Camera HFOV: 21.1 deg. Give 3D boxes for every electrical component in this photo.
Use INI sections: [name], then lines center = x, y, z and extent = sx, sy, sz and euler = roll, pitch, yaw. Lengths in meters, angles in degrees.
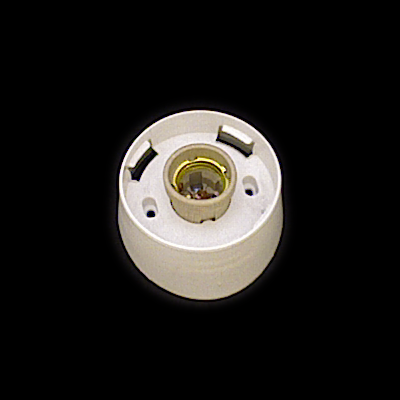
[electrical component]
center = 0.000, 0.000, 0.625
extent = 0.099, 0.099, 0.064
euler = 0, -27, 0
